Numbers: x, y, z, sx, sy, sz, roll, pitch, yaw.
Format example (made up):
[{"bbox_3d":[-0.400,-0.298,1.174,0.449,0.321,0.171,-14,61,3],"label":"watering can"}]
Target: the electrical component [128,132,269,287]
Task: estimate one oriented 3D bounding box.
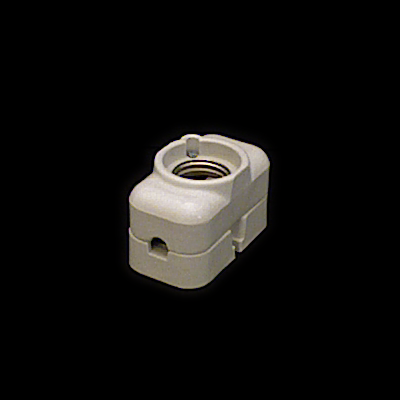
[{"bbox_3d":[0.000,0.000,0.642,0.053,0.060,0.095,18,36,25],"label":"electrical component"}]
